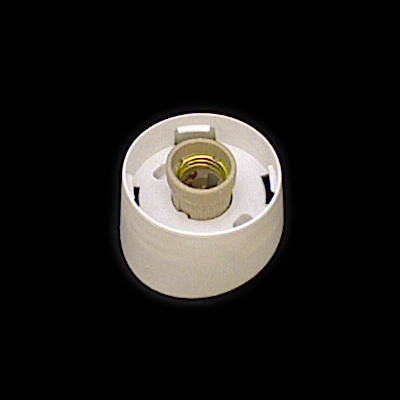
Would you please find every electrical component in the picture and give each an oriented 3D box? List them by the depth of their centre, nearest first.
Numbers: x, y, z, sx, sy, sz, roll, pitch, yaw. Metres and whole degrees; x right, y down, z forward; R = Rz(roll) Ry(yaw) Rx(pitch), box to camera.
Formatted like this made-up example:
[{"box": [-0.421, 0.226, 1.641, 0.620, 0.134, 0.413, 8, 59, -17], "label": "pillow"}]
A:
[{"box": [0.000, 0.000, 0.627, 0.099, 0.098, 0.064, 0, -37, 0], "label": "electrical component"}]
